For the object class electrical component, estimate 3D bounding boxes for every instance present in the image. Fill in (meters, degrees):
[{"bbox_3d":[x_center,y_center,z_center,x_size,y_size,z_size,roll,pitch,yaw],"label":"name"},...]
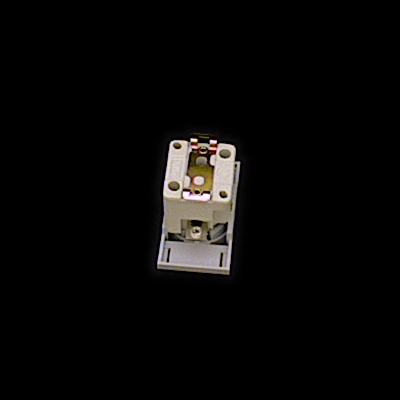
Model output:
[{"bbox_3d":[0.000,0.000,0.627,0.042,0.080,0.064,4,-38,3],"label":"electrical component"}]
